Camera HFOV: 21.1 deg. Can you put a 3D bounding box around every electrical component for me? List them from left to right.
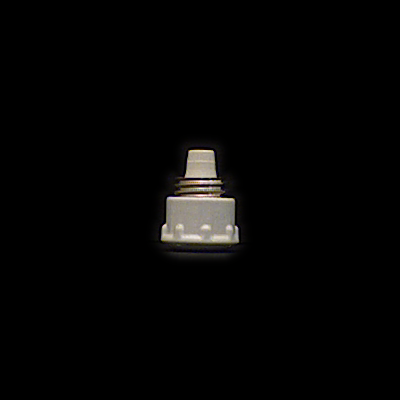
[{"bbox_3d":[0.000,0.000,0.657,0.048,0.062,0.048,1,1,1],"label":"electrical component"}]
